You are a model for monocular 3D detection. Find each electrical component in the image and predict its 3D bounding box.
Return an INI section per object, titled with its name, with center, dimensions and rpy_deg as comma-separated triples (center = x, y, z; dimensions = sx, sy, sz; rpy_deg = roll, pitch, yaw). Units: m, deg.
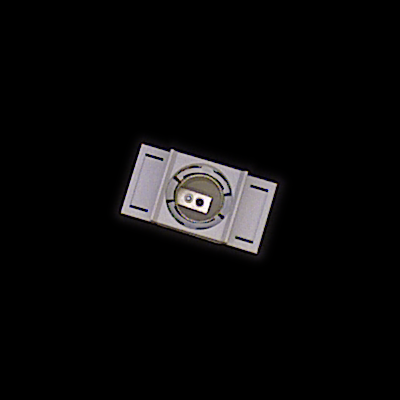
[electrical component]
center = 0.000, 0.000, 0.625
dimensions = 0.081, 0.042, 0.063
rpy_deg = 17, -5, 1
